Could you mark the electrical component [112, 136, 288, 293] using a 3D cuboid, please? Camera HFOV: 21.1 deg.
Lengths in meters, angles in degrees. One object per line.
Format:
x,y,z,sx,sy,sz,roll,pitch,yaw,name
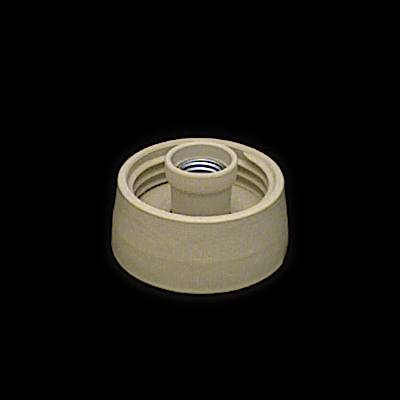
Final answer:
0.000,0.000,0.642,0.108,0.061,0.106,1,32,0,electrical component
